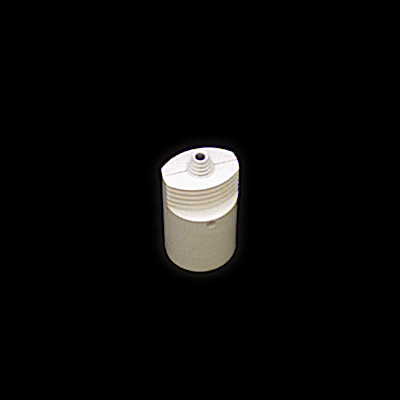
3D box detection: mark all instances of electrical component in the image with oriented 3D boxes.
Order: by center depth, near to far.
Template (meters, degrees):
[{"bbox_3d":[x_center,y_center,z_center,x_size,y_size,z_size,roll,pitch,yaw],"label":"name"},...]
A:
[{"bbox_3d":[0.000,0.000,0.619,0.043,0.043,0.081,0,-38,0],"label":"electrical component"}]
